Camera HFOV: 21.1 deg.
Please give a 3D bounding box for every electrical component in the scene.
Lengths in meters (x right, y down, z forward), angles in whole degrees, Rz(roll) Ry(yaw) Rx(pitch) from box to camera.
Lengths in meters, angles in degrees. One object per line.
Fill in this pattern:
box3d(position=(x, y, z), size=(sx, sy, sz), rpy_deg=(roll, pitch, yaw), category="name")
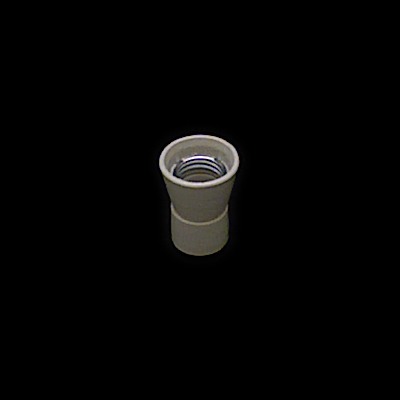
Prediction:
box3d(position=(0.000, 0.000, 0.628), size=(0.044, 0.066, 0.044), rpy_deg=(0, 43, 0), category="electrical component")
